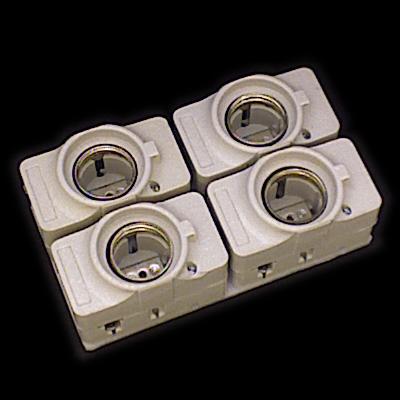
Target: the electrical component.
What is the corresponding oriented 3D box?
[{"bbox_3d":[0.000,0.000,0.626,0.186,0.105,0.060,-20,-25,-10],"label":"electrical component"}]
